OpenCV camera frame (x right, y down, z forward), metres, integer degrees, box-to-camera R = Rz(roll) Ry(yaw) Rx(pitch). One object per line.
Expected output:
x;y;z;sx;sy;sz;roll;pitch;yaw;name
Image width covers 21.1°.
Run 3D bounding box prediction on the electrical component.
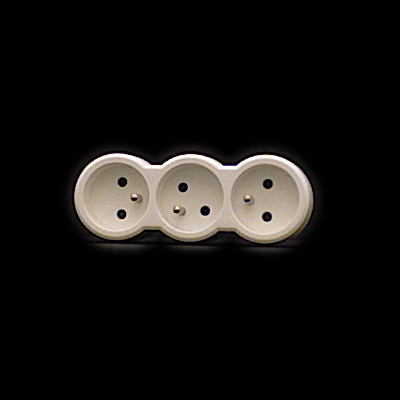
0.000;0.000;0.650;0.138;0.052;0.074;1;-2;9;electrical component
